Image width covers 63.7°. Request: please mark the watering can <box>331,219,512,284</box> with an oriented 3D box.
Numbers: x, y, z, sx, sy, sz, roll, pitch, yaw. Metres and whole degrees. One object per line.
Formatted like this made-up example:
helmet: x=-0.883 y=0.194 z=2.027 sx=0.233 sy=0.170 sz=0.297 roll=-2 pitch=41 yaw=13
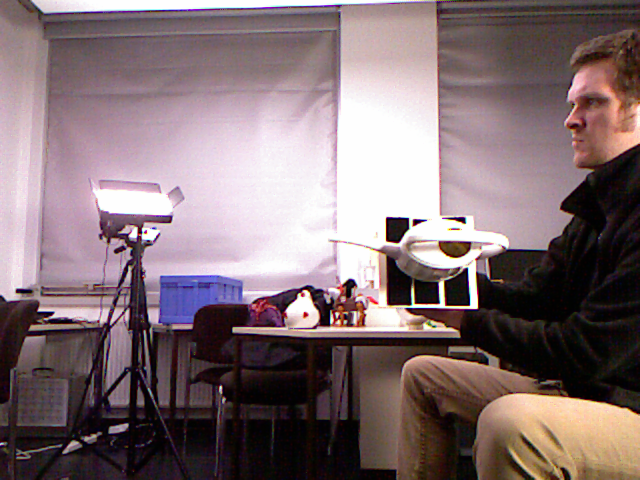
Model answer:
watering can: x=0.192 y=0.019 z=1.022 sx=0.349 sy=0.106 sz=0.222 roll=1 pitch=-17 yaw=-1
